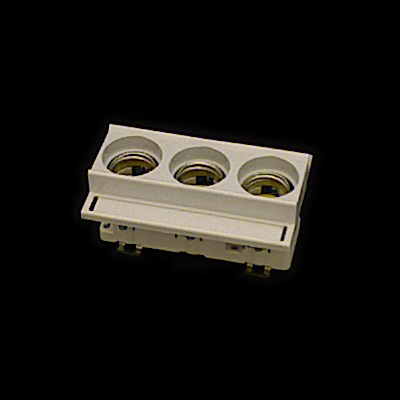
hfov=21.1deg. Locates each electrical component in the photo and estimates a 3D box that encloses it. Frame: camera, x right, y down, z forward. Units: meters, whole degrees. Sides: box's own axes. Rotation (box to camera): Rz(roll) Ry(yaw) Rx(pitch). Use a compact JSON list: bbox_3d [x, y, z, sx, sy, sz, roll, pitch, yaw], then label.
[{"bbox_3d":[0.000,0.000,0.641,0.121,0.063,0.078,9,45,10],"label":"electrical component"}]
